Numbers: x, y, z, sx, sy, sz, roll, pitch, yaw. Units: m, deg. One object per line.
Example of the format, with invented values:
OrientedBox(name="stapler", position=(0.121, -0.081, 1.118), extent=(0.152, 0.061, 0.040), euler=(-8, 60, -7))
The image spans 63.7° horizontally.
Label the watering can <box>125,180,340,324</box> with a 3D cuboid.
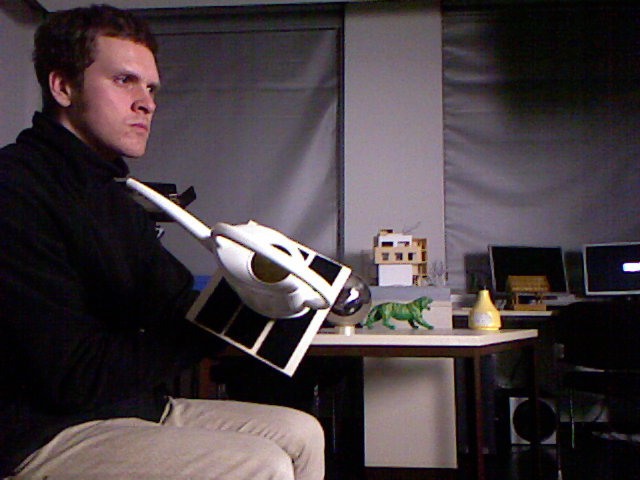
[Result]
OrientedBox(name="watering can", position=(-0.124, 0.025, 0.790), extent=(0.350, 0.106, 0.221), euler=(28, -21, 13))
